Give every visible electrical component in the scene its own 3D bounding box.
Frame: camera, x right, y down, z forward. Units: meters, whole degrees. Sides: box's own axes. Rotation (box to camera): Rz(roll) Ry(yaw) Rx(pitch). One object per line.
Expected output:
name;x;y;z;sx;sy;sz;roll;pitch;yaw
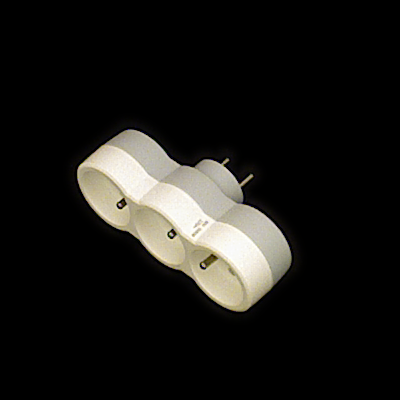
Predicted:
electrical component;0.000;0.000;0.640;0.137;0.052;0.074;35;59;23
